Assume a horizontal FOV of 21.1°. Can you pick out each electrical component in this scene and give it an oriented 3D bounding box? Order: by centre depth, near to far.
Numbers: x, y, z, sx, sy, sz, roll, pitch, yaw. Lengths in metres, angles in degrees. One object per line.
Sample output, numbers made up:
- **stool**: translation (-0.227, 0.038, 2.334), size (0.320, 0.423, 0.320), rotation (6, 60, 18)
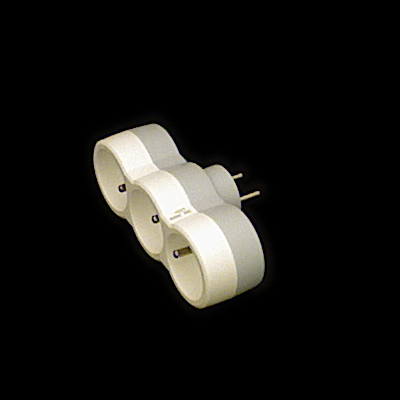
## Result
- **electrical component**: translation (0.000, 0.000, 0.641), size (0.074, 0.052, 0.136), rotation (-21, 47, -24)
